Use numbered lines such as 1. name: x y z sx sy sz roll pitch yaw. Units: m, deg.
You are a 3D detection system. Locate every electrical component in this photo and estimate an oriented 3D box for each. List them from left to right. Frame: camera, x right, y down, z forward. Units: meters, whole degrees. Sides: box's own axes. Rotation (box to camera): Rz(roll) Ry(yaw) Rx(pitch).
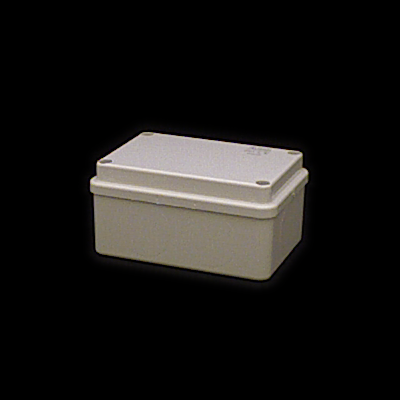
1. electrical component: 0.000 0.000 0.641 0.113 0.058 0.077 8 22 19
